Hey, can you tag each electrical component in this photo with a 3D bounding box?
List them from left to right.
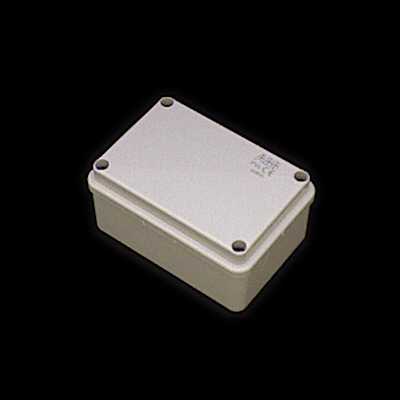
[{"bbox_3d":[0.000,0.000,0.630,0.113,0.078,0.057,30,-32,21],"label":"electrical component"}]
